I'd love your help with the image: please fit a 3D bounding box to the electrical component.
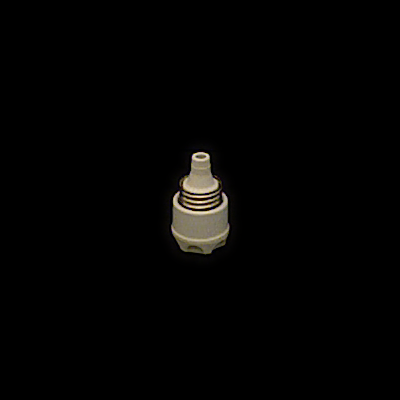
[{"bbox_3d":[0.000,0.000,0.645,0.035,0.062,0.034,1,31,0],"label":"electrical component"}]
